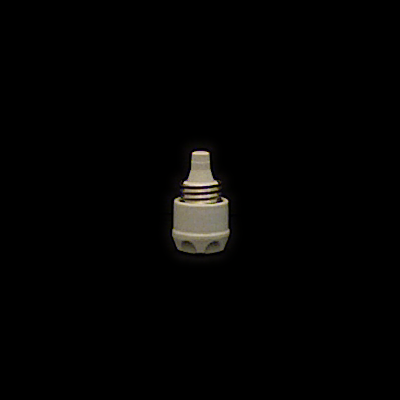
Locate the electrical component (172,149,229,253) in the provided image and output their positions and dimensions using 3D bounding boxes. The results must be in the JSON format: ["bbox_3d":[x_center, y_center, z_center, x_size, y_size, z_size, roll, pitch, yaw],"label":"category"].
[{"bbox_3d":[0.000,0.000,0.656,0.035,0.062,0.035,-1,12,0],"label":"electrical component"}]
